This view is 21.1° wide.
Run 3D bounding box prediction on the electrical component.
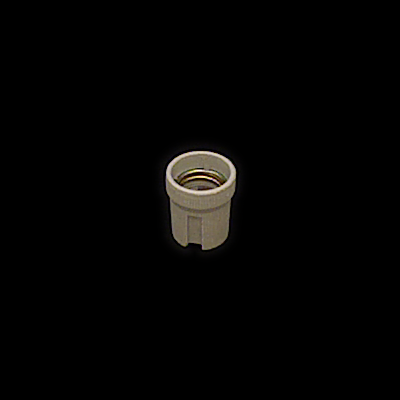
[{"bbox_3d":[0.000,0.000,0.635,0.040,0.047,0.039,1,42,0],"label":"electrical component"}]
